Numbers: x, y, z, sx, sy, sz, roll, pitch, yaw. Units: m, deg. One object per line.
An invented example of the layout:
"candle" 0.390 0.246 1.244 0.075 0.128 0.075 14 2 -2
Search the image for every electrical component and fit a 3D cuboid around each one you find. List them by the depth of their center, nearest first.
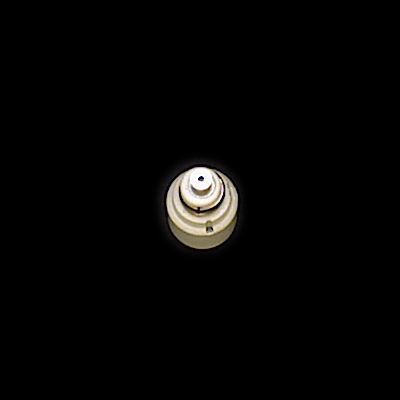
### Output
"electrical component" 0.000 0.000 0.617 0.040 0.040 0.078 0 -18 1
